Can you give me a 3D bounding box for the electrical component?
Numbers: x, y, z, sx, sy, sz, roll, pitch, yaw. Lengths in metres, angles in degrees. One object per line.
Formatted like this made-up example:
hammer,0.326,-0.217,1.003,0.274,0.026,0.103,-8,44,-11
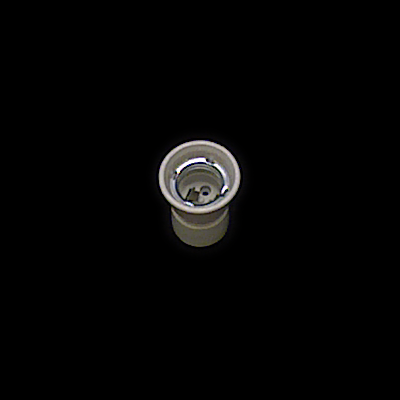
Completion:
electrical component,0.000,0.000,0.624,0.044,0.044,0.065,0,-26,0
